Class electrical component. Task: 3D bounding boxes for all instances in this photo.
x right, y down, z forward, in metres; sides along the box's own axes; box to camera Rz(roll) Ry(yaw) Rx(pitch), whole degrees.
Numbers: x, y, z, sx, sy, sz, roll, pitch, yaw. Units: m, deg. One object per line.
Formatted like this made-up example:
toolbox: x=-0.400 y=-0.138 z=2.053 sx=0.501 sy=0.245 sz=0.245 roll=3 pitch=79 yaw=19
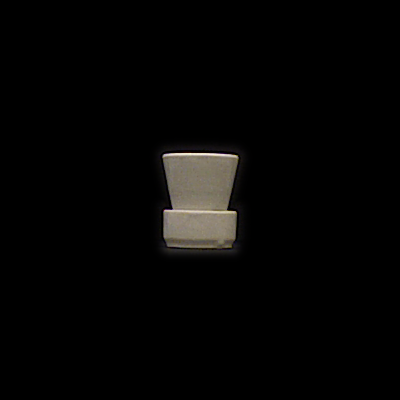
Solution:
electrical component: x=0.000 y=0.000 z=0.648 sx=0.045 sy=0.055 sz=0.045 roll=0 pitch=1 yaw=0
